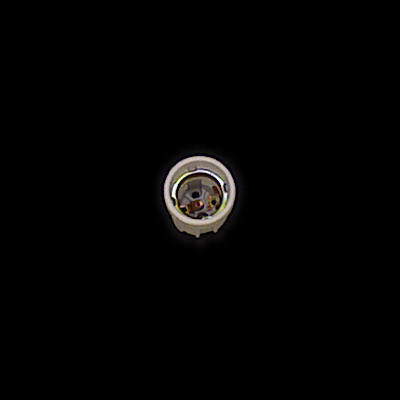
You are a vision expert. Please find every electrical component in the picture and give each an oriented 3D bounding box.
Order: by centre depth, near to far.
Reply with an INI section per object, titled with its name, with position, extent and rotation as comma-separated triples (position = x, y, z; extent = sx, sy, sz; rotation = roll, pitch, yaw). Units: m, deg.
[electrical component]
position = 0.000, 0.000, 0.626
extent = 0.040, 0.040, 0.046
rotation = 0, -17, 0
